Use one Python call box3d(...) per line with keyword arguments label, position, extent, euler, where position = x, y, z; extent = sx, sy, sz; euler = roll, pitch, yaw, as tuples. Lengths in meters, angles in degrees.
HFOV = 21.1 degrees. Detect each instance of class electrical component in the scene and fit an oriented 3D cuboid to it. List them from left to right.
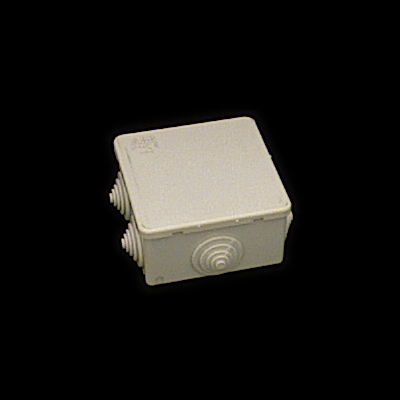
box3d(label="electrical component", position=(0.000, 0.000, 0.642), extent=(0.100, 0.049, 0.098), euler=(-9, 44, -11))
